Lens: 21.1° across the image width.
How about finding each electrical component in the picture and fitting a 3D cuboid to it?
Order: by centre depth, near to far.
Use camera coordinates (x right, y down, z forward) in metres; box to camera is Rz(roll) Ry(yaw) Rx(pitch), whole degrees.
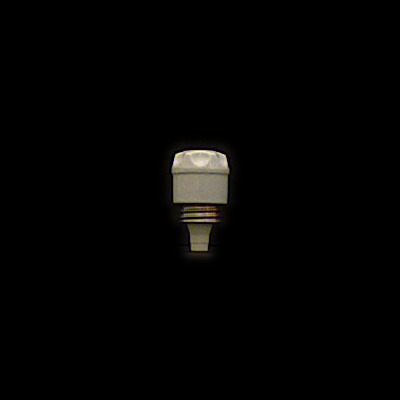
[{"bbox_3d":[0.000,0.000,0.658,0.035,0.061,0.035,1,1,1],"label":"electrical component"}]
